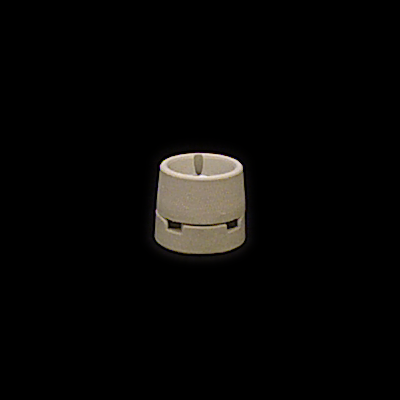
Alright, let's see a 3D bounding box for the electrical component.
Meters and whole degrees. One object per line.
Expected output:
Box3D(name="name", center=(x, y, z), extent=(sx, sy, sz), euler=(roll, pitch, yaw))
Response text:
Box3D(name="electrical component", center=(0.000, 0.000, 0.643), extent=(0.055, 0.047, 0.055), euler=(1, 20, 0))
